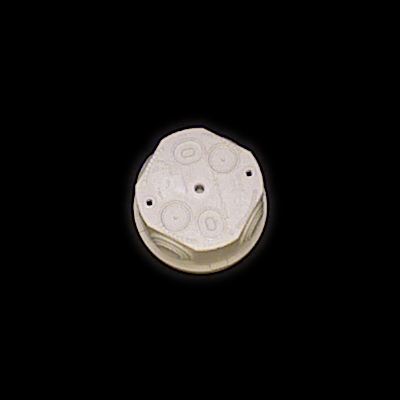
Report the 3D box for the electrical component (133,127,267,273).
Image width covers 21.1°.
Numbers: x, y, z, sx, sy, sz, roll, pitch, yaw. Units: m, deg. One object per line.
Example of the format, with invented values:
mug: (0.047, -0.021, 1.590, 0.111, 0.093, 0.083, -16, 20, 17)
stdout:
electrical component: (0.000, 0.000, 0.631, 0.080, 0.080, 0.050, 0, -17, 0)
